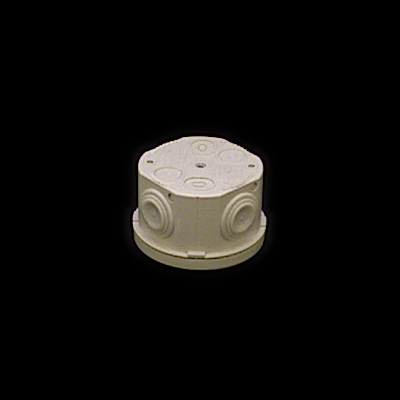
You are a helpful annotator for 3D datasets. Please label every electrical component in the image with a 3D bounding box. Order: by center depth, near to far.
[{"bbox_3d":[0.000,0.000,0.637,0.080,0.051,0.079,1,31,-1],"label":"electrical component"}]
